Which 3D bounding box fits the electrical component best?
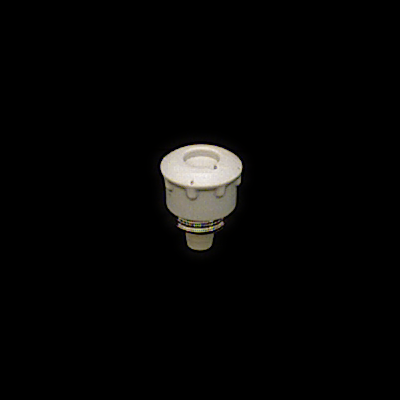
[{"bbox_3d":[0.000,0.000,0.642,0.048,0.063,0.047,1,32,0],"label":"electrical component"}]
